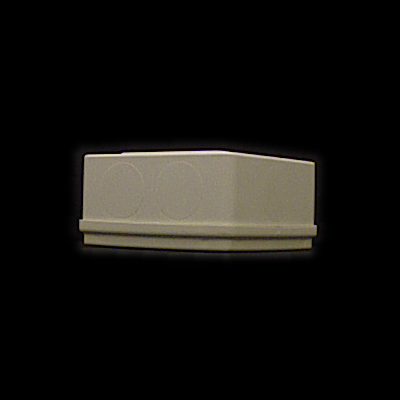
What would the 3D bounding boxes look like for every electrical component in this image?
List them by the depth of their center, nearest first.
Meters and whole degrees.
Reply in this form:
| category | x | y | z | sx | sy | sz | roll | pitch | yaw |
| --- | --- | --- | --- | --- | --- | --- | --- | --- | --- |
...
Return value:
| category | x | y | z | sx | sy | sz | roll | pitch | yaw |
| --- | --- | --- | --- | --- | --- | --- | --- | --- | --- |
| electrical component | 0.000 | 0.000 | 0.652 | 0.108 | 0.056 | 0.109 | 1 | -1 | 33 |
